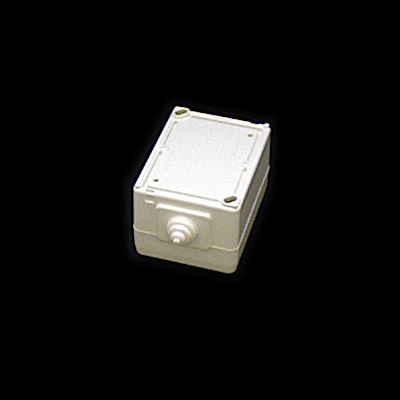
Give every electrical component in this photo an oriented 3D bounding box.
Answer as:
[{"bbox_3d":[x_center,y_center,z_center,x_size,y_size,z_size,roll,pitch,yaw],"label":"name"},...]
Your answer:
[{"bbox_3d":[-0.001,0.000,0.624,0.061,0.061,0.096,12,42,11],"label":"electrical component"}]
